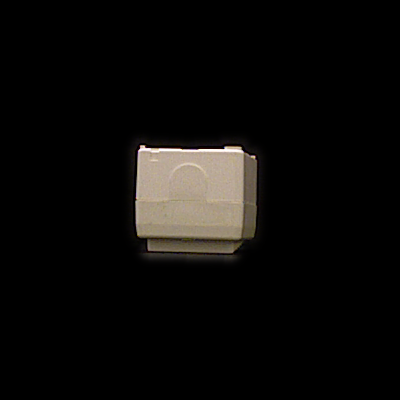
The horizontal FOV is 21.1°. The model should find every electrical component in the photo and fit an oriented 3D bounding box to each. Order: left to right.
[{"bbox_3d":[0.000,0.000,0.651,0.062,0.061,0.096,1,-1,9],"label":"electrical component"}]
